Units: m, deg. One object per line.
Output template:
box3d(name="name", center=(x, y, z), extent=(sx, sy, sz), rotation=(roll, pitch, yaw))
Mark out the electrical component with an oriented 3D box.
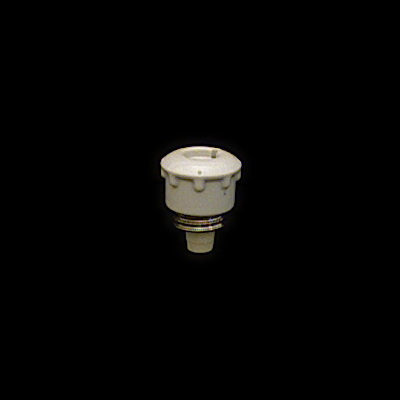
box3d(name="electrical component", center=(0.000, 0.000, 0.648), extent=(0.048, 0.063, 0.047), rotation=(1, 22, 0))
